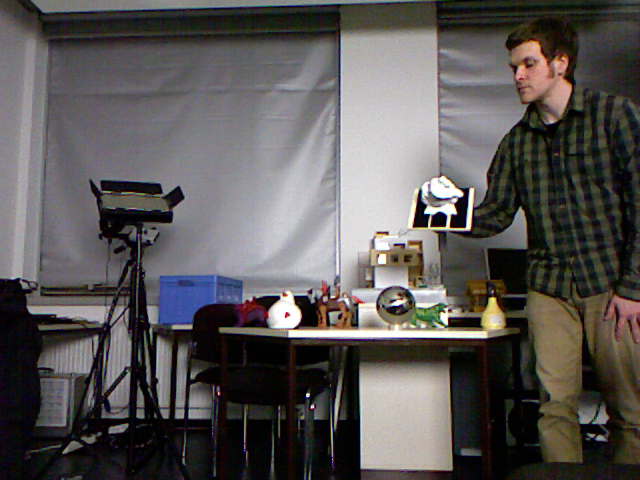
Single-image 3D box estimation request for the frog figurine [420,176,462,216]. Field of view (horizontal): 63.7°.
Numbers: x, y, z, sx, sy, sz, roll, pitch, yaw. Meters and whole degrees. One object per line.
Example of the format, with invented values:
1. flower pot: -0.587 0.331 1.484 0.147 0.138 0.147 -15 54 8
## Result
1. frog figurine: 0.402 -0.165 1.723 0.138 0.156 0.125 16 51 27
